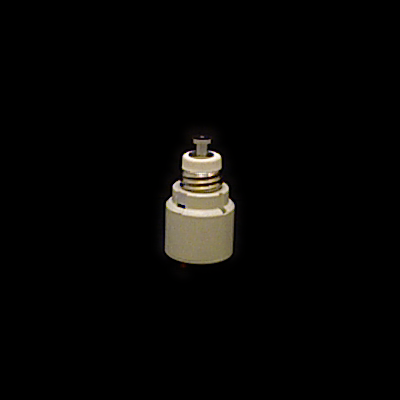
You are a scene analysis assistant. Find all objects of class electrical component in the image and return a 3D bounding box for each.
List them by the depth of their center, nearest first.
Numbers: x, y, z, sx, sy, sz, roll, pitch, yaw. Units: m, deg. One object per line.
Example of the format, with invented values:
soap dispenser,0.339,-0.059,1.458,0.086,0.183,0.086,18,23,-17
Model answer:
electrical component,0.000,0.000,0.637,0.040,0.079,0.039,2,22,-1
